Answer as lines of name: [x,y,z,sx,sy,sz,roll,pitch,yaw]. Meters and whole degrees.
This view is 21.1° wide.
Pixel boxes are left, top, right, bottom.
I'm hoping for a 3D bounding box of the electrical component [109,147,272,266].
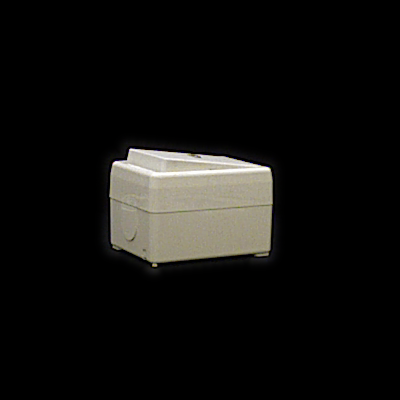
electrical component: [0.000,0.000,0.645,0.096,0.061,0.061,-4,12,-28]
